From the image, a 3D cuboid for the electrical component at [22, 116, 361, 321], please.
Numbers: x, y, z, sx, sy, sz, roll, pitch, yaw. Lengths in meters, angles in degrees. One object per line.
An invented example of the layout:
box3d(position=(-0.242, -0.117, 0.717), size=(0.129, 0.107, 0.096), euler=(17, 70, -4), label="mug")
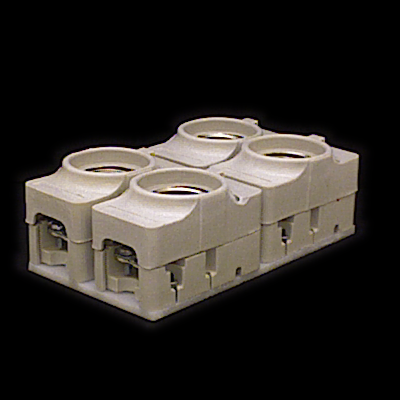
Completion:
box3d(position=(0.000, 0.000, 0.639), size=(0.104, 0.061, 0.186), euler=(19, 26, 39), label="electrical component")
